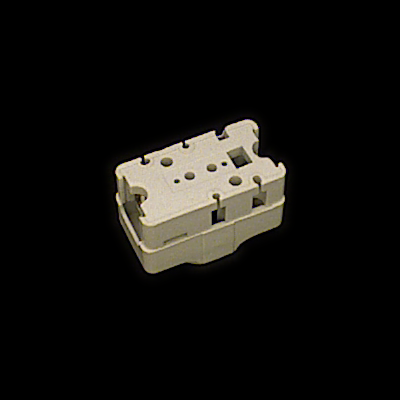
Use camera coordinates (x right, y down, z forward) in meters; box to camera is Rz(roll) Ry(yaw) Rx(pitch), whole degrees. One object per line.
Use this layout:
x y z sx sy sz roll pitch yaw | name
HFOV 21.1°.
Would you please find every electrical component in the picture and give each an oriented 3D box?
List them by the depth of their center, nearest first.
0.000 0.000 0.637 0.090 0.050 0.056 -20 -35 -15 | electrical component
